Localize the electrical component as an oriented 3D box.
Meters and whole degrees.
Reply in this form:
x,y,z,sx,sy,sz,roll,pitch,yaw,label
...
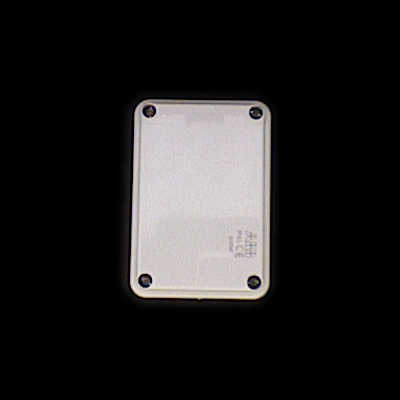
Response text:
x,y,z,sx,sy,sz,roll,pitch,yaw,label
0.000,0.000,0.628,0.078,0.113,0.057,1,-7,0,electrical component
